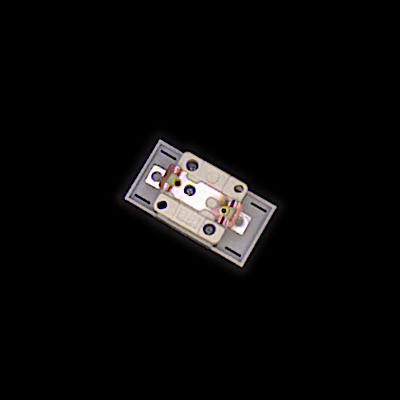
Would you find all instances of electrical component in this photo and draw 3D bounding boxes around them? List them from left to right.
[{"bbox_3d":[0.000,0.000,0.626,0.081,0.042,0.063,29,-5,4],"label":"electrical component"}]
